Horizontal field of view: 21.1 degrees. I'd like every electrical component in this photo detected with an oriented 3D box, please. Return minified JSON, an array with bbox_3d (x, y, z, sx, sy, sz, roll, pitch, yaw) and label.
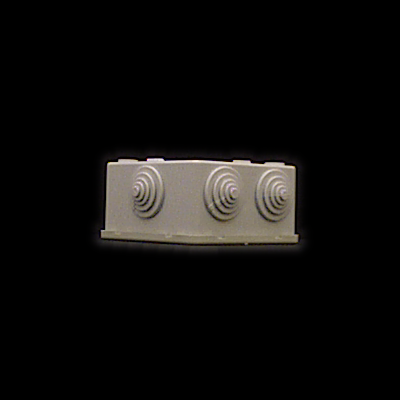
[{"bbox_3d":[0.000,0.000,0.651,0.100,0.048,0.099,1,0,-42],"label":"electrical component"}]
